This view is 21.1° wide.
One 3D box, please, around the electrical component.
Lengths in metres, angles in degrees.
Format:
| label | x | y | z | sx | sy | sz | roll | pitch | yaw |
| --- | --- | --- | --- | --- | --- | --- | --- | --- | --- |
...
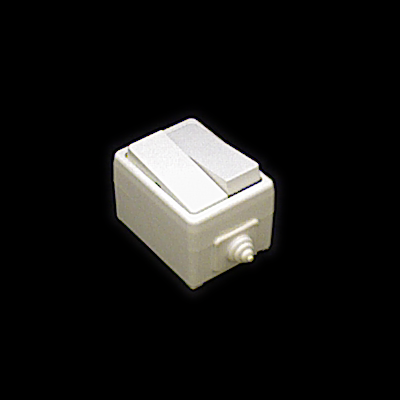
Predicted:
| label | x | y | z | sx | sy | sz | roll | pitch | yaw |
| --- | --- | --- | --- | --- | --- | --- | --- | --- | --- |
| electrical component | 0.000 | 0.000 | 0.629 | 0.061 | 0.061 | 0.096 | -27 | 48 | -27 |
